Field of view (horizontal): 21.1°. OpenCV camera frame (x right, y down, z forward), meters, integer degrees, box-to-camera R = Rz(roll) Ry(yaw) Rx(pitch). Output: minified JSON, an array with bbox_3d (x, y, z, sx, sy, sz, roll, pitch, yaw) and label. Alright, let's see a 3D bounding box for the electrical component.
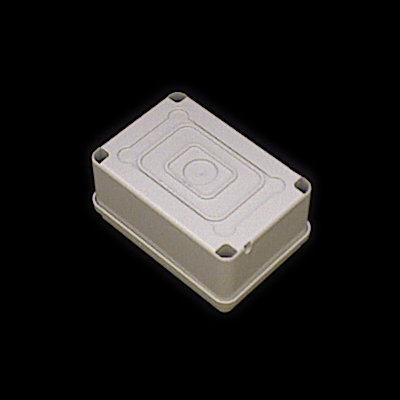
[{"bbox_3d":[0.000,0.000,0.629,0.112,0.057,0.078,37,60,25],"label":"electrical component"}]
